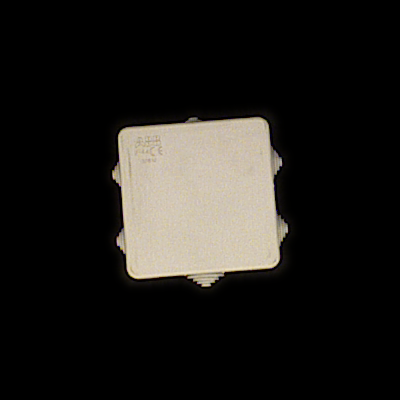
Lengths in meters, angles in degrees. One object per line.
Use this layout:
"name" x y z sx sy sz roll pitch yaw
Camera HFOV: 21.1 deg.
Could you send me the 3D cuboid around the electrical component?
"electrical component" 0.000 0.000 0.642 0.100 0.100 0.048 -4 -6 0
